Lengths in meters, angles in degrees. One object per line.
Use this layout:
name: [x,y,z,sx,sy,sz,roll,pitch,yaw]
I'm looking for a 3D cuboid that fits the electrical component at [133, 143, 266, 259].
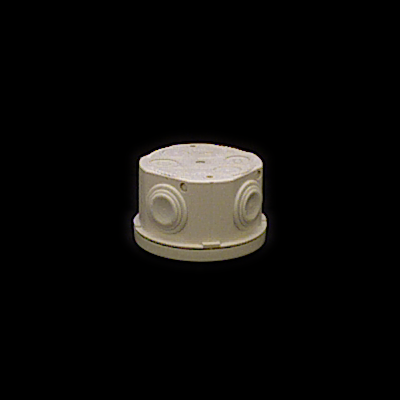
electrical component: [0.000,0.000,0.642,0.080,0.051,0.079,1,20,0]
